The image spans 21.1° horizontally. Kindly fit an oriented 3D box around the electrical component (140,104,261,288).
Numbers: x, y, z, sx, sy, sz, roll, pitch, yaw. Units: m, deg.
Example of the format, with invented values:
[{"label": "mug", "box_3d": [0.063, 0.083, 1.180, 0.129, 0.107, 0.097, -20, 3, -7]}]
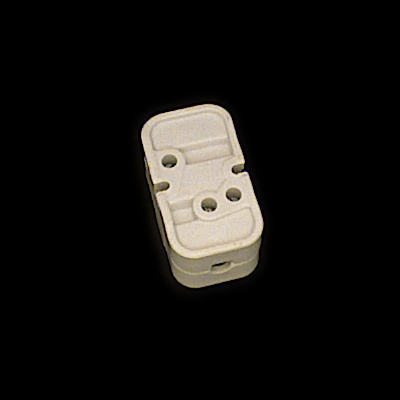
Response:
[{"label": "electrical component", "box_3d": [0.000, 0.000, 0.636, 0.054, 0.095, 0.059, -13, -26, -6]}]
